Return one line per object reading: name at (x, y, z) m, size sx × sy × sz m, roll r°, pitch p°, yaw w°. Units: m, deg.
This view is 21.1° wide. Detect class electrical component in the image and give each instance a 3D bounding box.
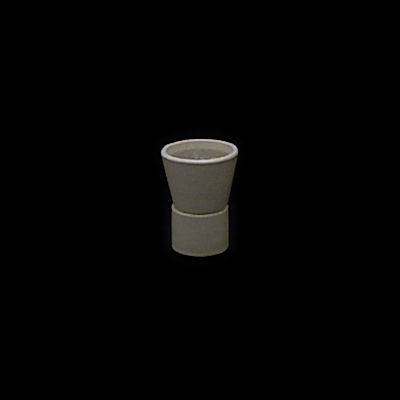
electrical component at (0.000, 0.000, 0.637) m, size 0.044 × 0.066 × 0.044 m, roll 0°, pitch 22°, yaw 0°
